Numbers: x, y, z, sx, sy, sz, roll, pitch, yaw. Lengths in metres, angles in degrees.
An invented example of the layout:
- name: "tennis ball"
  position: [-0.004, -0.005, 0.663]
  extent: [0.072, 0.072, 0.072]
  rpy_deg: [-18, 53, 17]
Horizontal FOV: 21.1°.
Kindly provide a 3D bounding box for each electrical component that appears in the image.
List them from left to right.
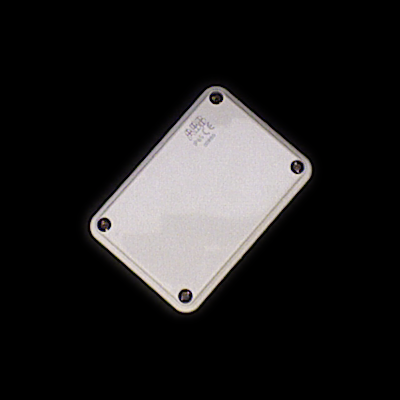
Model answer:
- name: "electrical component"
  position: [0.000, 0.000, 0.628]
  extent: [0.078, 0.113, 0.057]
  rpy_deg: [41, -5, 5]
